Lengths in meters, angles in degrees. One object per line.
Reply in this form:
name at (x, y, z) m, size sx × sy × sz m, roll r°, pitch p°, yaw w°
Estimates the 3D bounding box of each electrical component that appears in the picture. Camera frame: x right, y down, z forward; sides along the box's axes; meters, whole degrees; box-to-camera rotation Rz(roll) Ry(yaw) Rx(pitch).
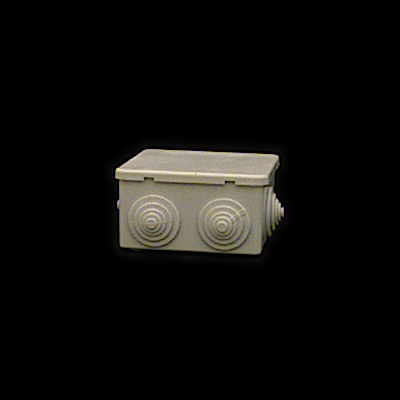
electrical component at (0.000, 0.000, 0.653) m, size 0.099 × 0.049 × 0.099 m, roll 3°, pitch 11°, yaw 8°
